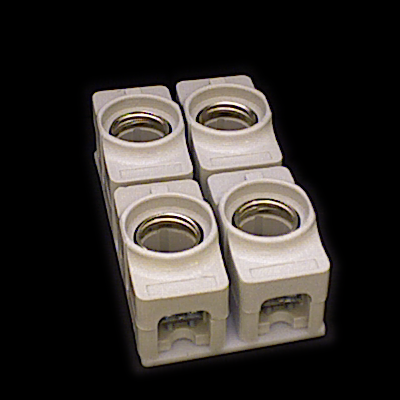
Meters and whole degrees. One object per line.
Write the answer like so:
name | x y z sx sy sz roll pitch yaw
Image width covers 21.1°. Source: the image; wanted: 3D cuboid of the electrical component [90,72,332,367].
electrical component | 0.000 0.000 0.630 0.106 0.061 0.184 -8 42 -9
